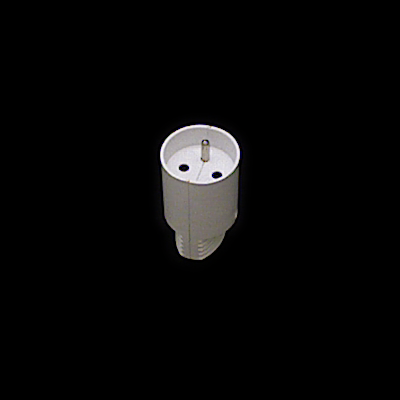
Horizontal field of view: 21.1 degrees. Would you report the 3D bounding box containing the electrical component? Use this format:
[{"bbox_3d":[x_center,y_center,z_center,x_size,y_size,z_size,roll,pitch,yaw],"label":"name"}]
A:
[{"bbox_3d":[0.000,0.000,0.620,0.043,0.043,0.081,0,-38,-1],"label":"electrical component"}]
